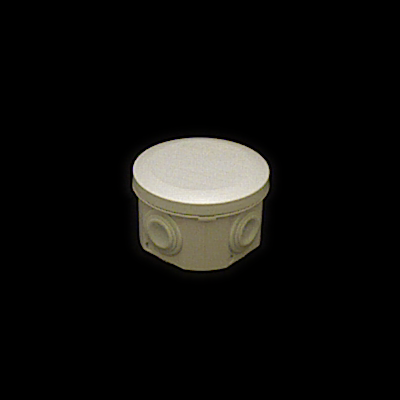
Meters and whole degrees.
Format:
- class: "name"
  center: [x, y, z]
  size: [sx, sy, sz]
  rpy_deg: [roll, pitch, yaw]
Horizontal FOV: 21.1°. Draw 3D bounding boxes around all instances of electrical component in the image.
- class: "electrical component"
  center: [0.000, 0.000, 0.636]
  size: [0.080, 0.051, 0.079]
  rpy_deg: [1, 31, 0]
